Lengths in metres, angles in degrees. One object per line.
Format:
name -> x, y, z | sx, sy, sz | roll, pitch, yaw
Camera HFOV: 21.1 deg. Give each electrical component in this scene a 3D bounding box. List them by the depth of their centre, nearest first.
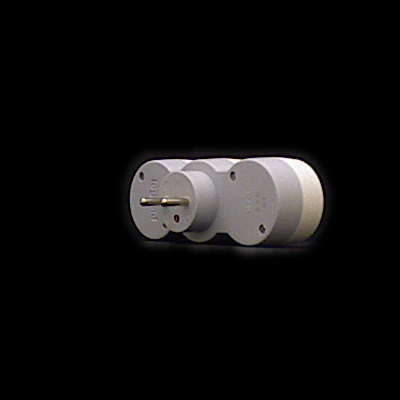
electrical component -> 0.000, 0.000, 0.648 | 0.073, 0.052, 0.138 | -2, 3, -41
